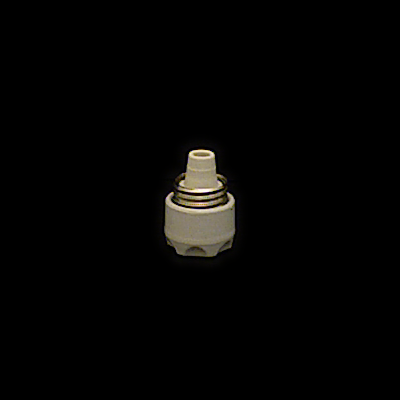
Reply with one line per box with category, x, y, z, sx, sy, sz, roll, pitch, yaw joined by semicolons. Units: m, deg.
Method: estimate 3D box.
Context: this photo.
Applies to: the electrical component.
electrical component;0.000;0.000;0.645;0.043;0.063;0.043;1;23;0
